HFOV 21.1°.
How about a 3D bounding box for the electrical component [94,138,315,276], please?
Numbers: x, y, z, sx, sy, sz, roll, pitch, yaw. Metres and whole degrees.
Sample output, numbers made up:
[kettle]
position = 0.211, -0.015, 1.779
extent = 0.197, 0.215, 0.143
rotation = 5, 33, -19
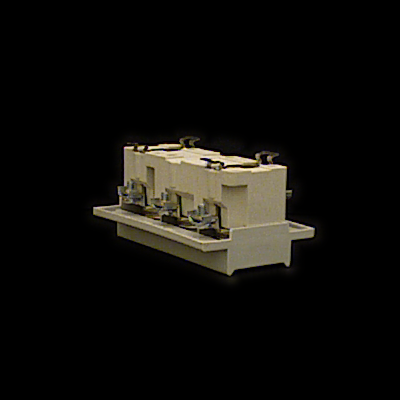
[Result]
[electrical component]
position = 0.000, 0.000, 0.648
extent = 0.079, 0.063, 0.119
rotation = -7, 13, -35
